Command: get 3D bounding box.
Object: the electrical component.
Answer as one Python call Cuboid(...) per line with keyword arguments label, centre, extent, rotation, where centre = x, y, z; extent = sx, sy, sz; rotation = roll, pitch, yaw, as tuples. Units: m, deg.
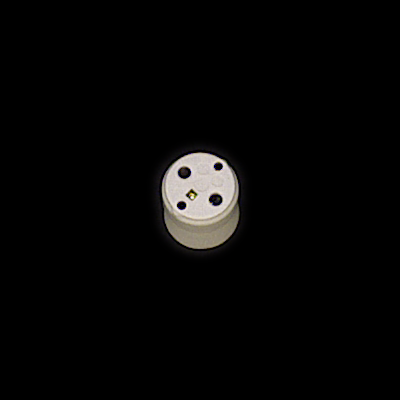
Cuboid(label="electrical component", centre=(0.000, 0.000, 0.629), extent=(0.045, 0.045, 0.055), rotation=(0, -17, 0))
